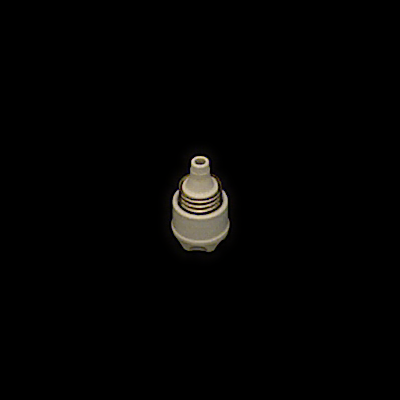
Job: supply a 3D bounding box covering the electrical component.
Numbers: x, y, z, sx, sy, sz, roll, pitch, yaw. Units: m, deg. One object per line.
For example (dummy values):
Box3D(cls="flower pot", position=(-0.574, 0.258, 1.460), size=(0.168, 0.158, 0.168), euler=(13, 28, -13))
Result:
Box3D(cls="electrical component", position=(0.000, 0.000, 0.642), size=(0.035, 0.062, 0.035), euler=(0, 41, 0))
